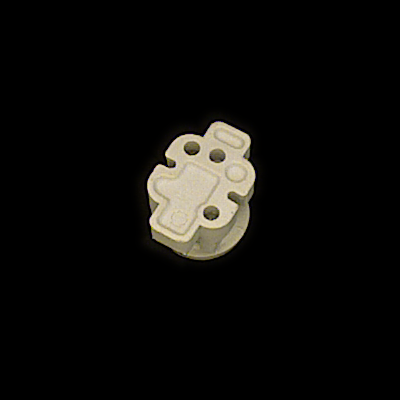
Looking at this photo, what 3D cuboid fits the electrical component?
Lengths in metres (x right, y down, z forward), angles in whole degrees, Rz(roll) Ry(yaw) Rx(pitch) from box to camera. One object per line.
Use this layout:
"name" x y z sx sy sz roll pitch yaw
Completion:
"electrical component" 0.000 0.000 0.634 0.057 0.079 0.056 27 -22 12
